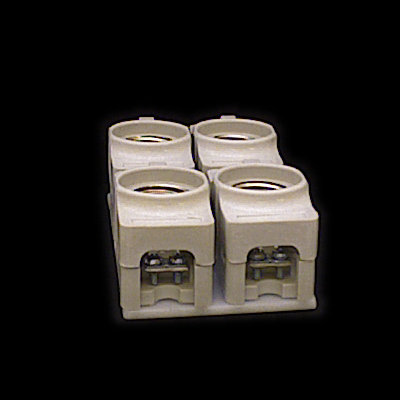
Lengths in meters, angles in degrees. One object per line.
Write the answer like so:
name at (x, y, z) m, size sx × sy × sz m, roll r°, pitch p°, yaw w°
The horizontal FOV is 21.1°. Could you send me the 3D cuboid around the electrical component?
electrical component at (0.000, 0.000, 0.638) m, size 0.106 × 0.061 × 0.184 m, roll -2°, pitch 20°, yaw -7°
